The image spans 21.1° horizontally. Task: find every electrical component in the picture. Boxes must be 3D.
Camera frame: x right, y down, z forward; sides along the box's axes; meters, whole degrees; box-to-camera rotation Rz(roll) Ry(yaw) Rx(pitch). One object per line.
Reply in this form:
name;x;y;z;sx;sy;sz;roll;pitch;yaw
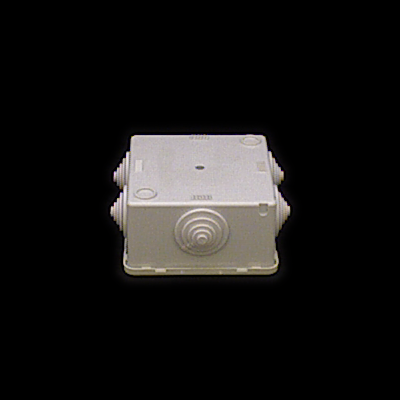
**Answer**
electrical component;0.000;0.000;0.636;0.100;0.049;0.098;0;31;-2
